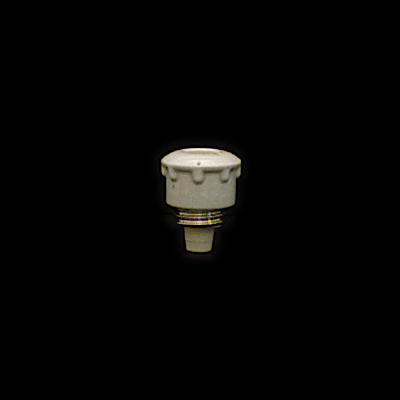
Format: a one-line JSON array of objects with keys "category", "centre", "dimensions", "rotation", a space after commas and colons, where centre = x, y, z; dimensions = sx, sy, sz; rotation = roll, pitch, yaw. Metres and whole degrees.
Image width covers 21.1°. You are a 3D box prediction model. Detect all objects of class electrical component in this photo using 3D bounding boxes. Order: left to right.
[{"category": "electrical component", "centre": [0.000, 0.000, 0.653], "dimensions": [0.048, 0.062, 0.048], "rotation": [1, 11, 0]}]
